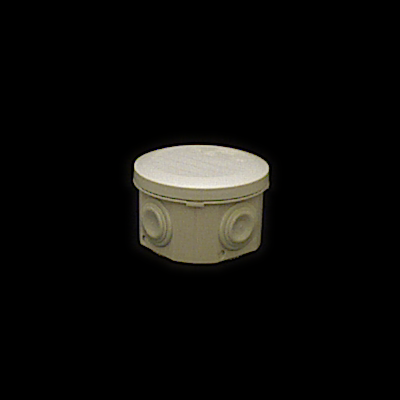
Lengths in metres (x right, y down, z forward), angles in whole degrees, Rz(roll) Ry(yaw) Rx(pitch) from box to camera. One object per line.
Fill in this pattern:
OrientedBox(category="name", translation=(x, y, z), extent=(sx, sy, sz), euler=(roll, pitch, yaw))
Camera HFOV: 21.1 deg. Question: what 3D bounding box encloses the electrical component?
OrientedBox(category="electrical component", translation=(0.000, 0.000, 0.639), extent=(0.080, 0.051, 0.079), euler=(1, 21, 0))
